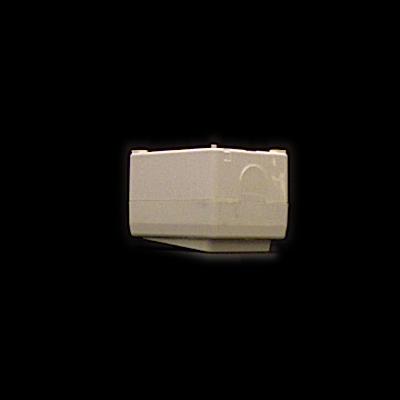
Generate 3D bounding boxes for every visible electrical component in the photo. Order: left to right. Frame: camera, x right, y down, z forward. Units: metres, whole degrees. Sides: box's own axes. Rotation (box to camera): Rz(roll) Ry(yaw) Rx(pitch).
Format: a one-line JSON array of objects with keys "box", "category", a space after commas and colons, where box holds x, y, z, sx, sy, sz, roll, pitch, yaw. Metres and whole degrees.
[{"box": [0.000, 0.000, 0.653, 0.062, 0.061, 0.096, 1, 0, -41], "category": "electrical component"}]
